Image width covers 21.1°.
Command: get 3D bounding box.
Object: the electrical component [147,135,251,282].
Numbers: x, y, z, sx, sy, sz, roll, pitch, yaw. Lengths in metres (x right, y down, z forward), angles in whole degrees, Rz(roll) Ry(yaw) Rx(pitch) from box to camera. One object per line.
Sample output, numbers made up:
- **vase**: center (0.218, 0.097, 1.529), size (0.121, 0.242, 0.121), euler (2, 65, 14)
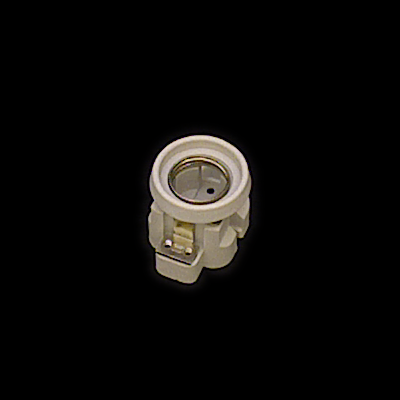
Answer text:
- **electrical component**: center (0.000, 0.000, 0.628), size (0.058, 0.078, 0.057), euler (19, -35, 13)
